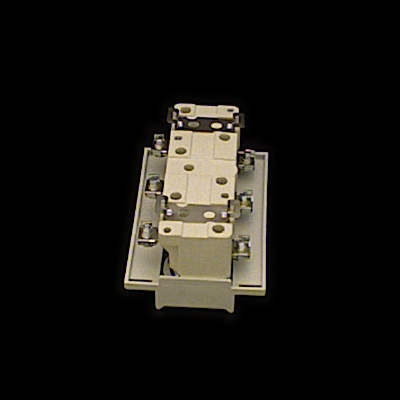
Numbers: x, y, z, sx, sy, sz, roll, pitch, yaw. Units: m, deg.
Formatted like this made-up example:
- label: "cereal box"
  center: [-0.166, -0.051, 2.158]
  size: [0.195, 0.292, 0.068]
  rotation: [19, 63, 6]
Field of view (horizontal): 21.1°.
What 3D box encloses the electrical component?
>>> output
- label: "electrical component"
  center: [0.000, 0.000, 0.638]
  size: [0.079, 0.063, 0.120]
  rotation: [3, 43, 1]
